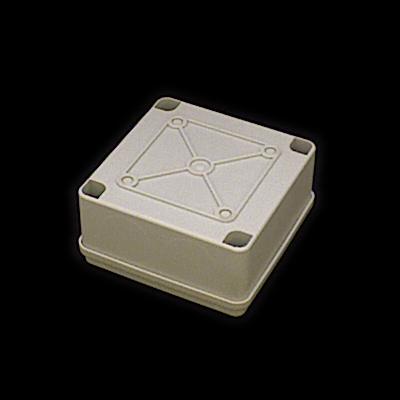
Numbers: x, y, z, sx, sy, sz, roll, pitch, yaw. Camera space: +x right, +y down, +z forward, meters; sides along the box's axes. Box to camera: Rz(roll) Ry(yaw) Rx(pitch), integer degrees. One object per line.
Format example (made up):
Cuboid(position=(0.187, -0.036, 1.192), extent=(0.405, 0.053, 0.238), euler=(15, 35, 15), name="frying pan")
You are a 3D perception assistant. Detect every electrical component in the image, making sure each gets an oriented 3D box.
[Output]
Cuboid(position=(0.000, 0.000, 0.630), extent=(0.108, 0.056, 0.108), euler=(19, 45, 19), name="electrical component")
